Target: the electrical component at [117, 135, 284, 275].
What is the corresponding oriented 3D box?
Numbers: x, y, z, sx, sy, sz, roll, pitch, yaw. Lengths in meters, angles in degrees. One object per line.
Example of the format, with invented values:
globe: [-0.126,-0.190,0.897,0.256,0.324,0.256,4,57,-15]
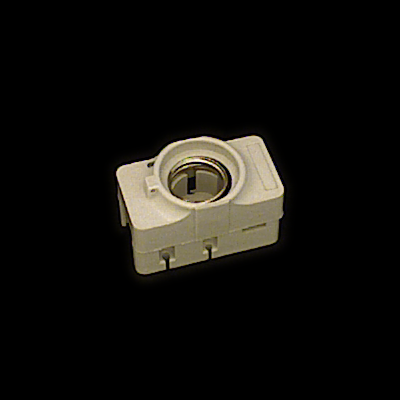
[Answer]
electrical component: [0.000,0.000,0.637,0.090,0.050,0.056,-14,-36,-11]
